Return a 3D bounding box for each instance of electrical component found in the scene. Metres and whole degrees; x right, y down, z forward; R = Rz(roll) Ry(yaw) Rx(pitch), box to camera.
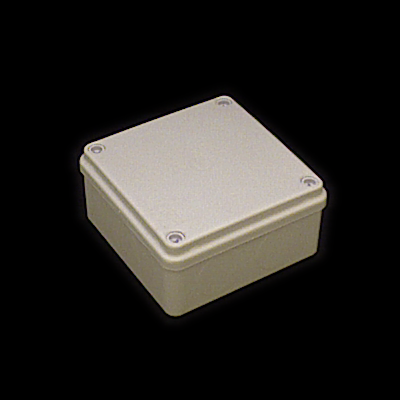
[{"bbox_3d":[0.000,0.000,0.634,0.109,0.057,0.107,-22,47,-24],"label":"electrical component"}]
